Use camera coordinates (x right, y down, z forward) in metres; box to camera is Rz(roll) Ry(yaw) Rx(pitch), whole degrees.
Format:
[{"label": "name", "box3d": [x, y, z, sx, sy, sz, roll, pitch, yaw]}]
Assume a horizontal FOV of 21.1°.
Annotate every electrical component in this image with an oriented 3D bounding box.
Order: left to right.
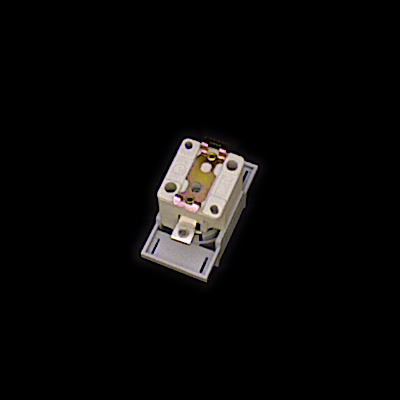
[{"label": "electrical component", "box3d": [0.000, 0.000, 0.626, 0.042, 0.081, 0.063, 20, -25, 10]}]
